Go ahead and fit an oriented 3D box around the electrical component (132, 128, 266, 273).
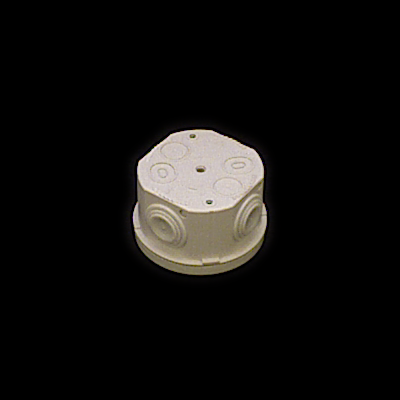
[{"bbox_3d":[0.000,0.000,0.633,0.080,0.051,0.080,1,43,0],"label":"electrical component"}]
